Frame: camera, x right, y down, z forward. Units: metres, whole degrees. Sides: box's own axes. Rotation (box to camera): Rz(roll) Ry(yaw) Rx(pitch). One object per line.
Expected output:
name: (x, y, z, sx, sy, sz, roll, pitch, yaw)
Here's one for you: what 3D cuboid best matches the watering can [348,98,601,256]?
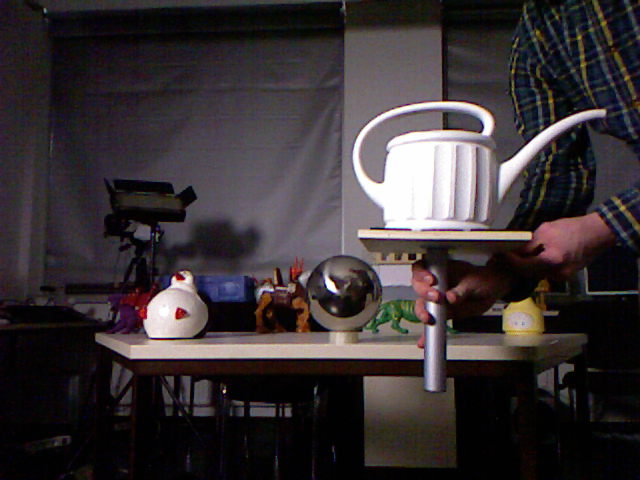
watering can: (0.213, -0.089, 0.726, 0.348, 0.225, 0.104, 1, -1, 7)
